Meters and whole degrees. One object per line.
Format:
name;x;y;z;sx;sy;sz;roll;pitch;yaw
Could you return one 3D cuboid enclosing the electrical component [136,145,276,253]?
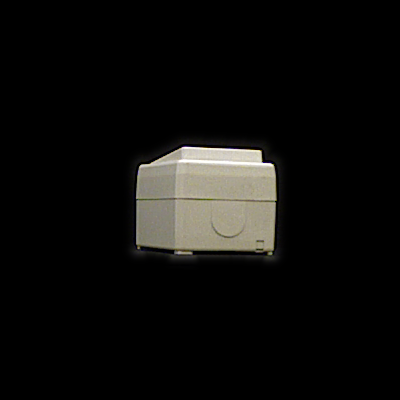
electrical component;0.000;0.000;0.652;0.062;0.061;0.096;1;0;-21
